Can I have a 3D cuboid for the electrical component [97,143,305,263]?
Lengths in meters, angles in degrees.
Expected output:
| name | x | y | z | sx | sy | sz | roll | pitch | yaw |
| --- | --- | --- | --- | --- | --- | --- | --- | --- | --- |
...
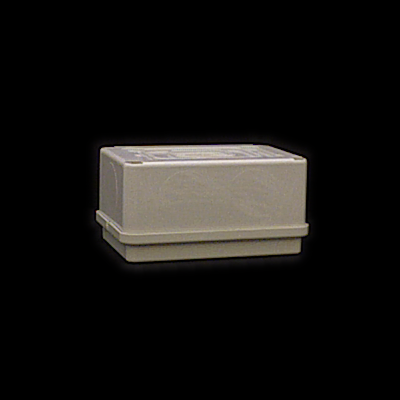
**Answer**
| name | x | y | z | sx | sy | sz | roll | pitch | yaw |
| --- | --- | --- | --- | --- | --- | --- | --- | --- | --- |
| electrical component | 0.000 | 0.000 | 0.644 | 0.113 | 0.057 | 0.077 | -2 | 11 | -17 |
